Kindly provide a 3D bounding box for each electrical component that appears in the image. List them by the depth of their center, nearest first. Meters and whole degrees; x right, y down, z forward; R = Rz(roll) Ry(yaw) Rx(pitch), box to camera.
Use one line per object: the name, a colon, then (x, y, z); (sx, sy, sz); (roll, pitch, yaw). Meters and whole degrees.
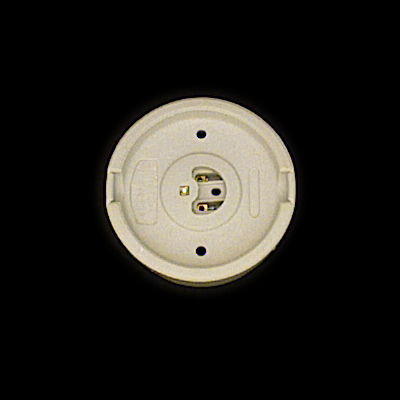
electrical component: (0.000, 0.000, 0.633); (0.108, 0.108, 0.060); (0, -16, 0)
